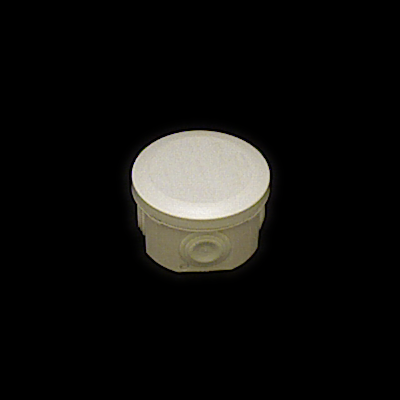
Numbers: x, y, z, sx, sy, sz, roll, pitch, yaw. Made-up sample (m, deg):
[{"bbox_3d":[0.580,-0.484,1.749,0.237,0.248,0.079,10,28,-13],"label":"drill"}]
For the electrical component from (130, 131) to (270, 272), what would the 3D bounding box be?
[{"bbox_3d":[0.000,0.000,0.632,0.080,0.051,0.080,0,42,0],"label":"electrical component"}]
